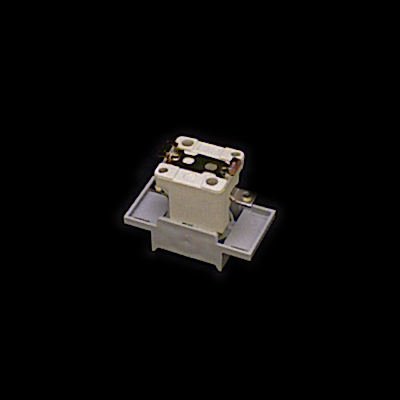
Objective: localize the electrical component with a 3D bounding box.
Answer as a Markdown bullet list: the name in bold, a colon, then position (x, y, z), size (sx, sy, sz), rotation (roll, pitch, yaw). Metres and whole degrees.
- **electrical component**: position (0.000, 0.000, 0.629), size (0.080, 0.064, 0.042), rotation (16, 44, 16)
